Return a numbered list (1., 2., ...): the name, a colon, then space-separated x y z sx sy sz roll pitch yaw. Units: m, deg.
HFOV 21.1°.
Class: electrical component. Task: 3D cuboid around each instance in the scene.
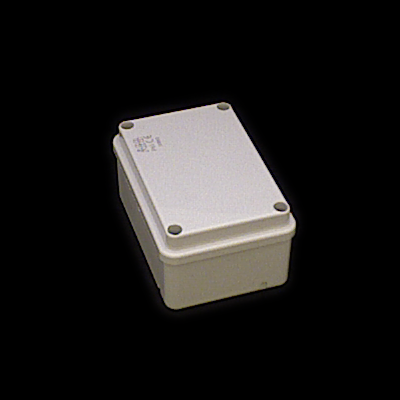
1. electrical component: 0.000 0.000 0.630 0.078 0.057 0.112 -12 44 -14
